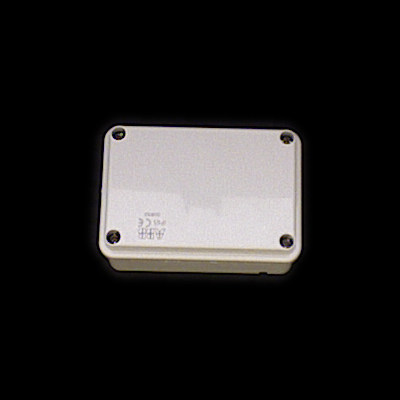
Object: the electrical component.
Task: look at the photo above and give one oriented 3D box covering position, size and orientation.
[{"bbox_3d":[0.000,0.000,0.626,0.113,0.078,0.057,1,-17,0],"label":"electrical component"}]
